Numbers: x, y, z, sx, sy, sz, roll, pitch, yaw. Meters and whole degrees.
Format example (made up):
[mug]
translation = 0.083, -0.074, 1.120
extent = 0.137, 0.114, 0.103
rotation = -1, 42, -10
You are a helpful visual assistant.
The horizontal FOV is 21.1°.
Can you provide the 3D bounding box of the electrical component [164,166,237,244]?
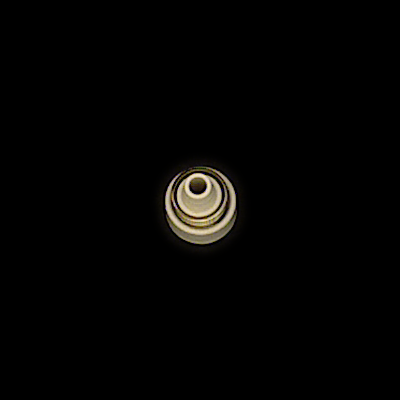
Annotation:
[electrical component]
translation = 0.000, 0.000, 0.634
extent = 0.043, 0.043, 0.062
rotation = 0, -17, 2
